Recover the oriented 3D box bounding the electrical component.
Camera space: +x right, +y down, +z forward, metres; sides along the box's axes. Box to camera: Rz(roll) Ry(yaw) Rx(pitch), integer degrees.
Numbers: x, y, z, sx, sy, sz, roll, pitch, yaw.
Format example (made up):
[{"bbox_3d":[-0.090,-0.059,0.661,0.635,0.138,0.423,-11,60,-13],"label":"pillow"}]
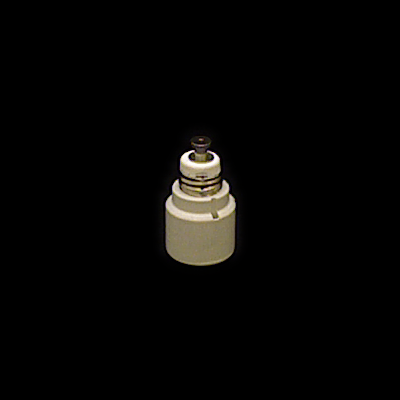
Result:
[{"bbox_3d":[0.000,0.000,0.628,0.040,0.079,0.039,0,31,0],"label":"electrical component"}]
